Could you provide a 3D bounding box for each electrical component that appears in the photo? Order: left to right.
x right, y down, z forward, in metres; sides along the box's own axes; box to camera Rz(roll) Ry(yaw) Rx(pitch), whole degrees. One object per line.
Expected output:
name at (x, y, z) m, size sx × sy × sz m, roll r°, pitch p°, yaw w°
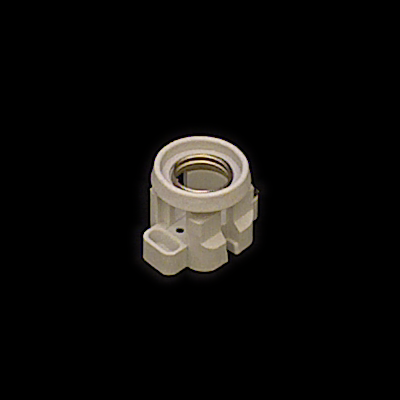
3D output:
electrical component at (0.000, 0.000, 0.633) m, size 0.078 × 0.057 × 0.057 m, roll -33°, pitch 52°, yaw -32°
